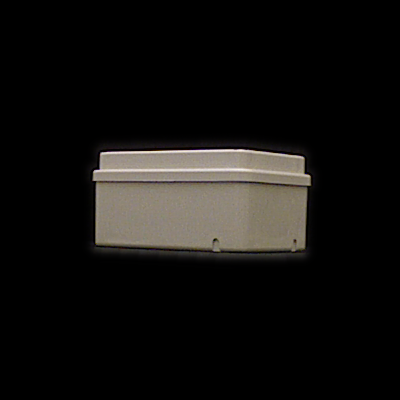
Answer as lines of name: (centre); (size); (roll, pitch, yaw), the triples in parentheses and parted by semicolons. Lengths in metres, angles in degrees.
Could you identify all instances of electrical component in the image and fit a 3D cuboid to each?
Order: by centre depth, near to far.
electrical component: (0.000, 0.000, 0.647); (0.112, 0.057, 0.078); (2, 0, 35)
